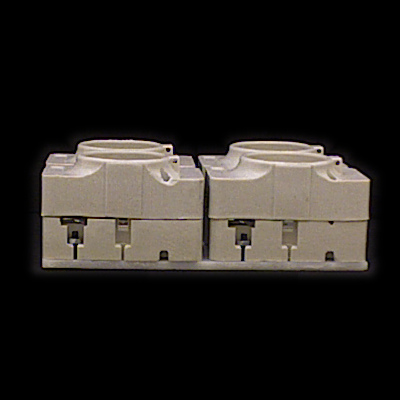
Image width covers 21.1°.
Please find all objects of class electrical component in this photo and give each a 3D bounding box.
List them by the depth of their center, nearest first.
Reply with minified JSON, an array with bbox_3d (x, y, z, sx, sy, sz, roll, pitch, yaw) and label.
[{"bbox_3d":[0.000,0.000,0.645,0.186,0.060,0.104,1,10,-5],"label":"electrical component"}]
